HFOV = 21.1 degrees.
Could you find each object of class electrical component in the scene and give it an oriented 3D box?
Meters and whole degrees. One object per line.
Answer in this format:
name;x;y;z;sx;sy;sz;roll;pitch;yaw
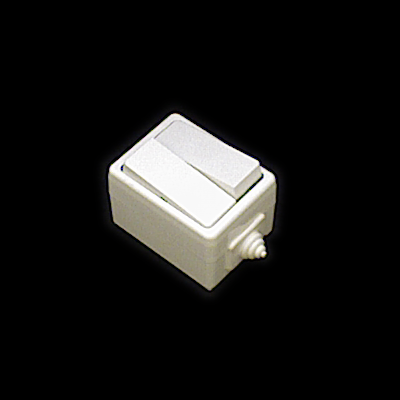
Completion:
electrical component;0.000;0.000;0.627;0.096;0.061;0.062;34;59;24
